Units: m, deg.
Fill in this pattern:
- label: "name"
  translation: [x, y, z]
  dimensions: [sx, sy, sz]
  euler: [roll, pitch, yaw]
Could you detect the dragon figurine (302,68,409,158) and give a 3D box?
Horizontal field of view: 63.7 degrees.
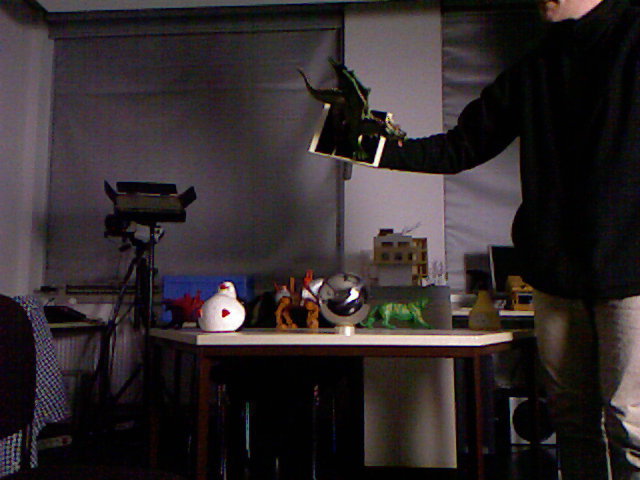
- label: "dragon figurine"
  translation: [0.077, -0.381, 1.410]
  dimensions: [0.124, 0.415, 0.239]
  euler: [-40, -17, -16]
